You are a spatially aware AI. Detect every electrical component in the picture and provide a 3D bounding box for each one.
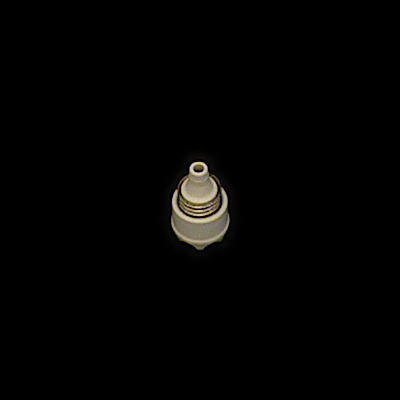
[{"bbox_3d":[0.000,0.000,0.638,0.035,0.035,0.062,0,-39,1],"label":"electrical component"}]
